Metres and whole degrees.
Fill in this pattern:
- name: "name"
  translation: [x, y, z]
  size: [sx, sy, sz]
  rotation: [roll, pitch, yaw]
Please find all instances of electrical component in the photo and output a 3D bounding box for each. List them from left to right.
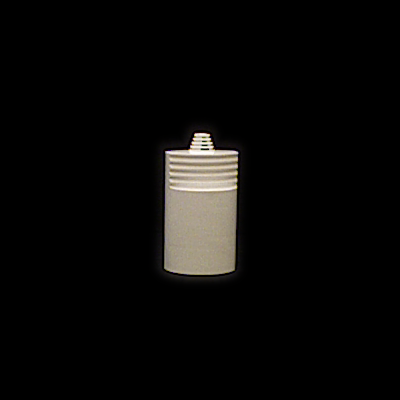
- name: "electrical component"
  translation: [0.000, 0.000, 0.642]
  size: [0.043, 0.081, 0.043]
  rotation: [1, 11, 0]
